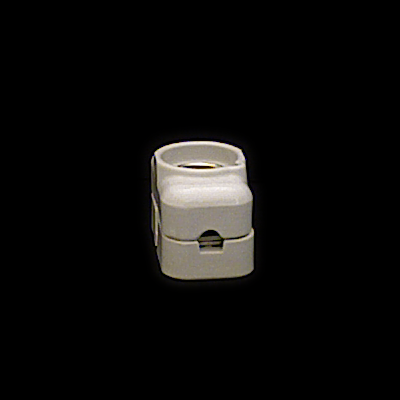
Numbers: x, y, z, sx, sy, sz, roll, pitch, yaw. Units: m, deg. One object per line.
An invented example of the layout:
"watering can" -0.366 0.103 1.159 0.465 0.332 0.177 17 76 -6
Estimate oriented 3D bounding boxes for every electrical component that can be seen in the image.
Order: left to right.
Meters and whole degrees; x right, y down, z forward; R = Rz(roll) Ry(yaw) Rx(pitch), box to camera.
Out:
"electrical component" 0.000 0.000 0.646 0.054 0.060 0.093 -3 22 -8
